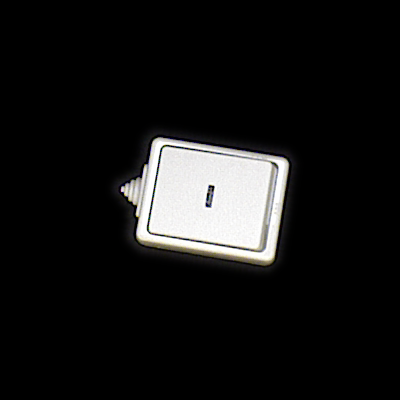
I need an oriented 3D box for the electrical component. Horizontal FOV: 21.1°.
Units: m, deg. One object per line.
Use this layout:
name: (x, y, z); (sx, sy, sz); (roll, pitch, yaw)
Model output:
electrical component: (0.000, 0.000, 0.627); (0.096, 0.062, 0.061); (9, -7, 2)
